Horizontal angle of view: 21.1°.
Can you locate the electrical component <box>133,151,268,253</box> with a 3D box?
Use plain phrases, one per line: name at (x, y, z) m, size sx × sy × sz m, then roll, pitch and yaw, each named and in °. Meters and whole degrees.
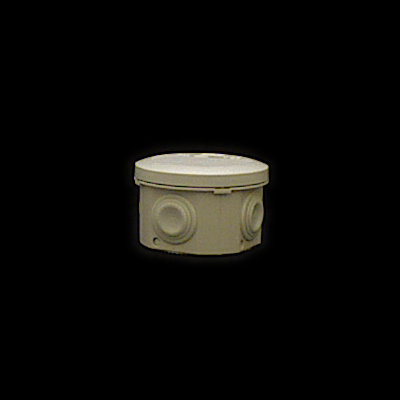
electrical component at (0.000, 0.000, 0.645) m, size 0.080 × 0.051 × 0.079 m, roll 1°, pitch 11°, yaw 0°
